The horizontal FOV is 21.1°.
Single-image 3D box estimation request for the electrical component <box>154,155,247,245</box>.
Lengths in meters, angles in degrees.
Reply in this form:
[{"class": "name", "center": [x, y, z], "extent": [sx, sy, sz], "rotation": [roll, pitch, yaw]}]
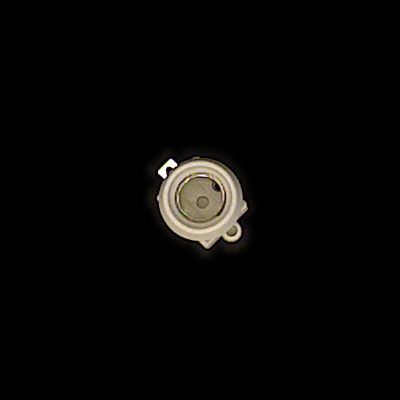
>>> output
[{"class": "electrical component", "center": [0.000, 0.000, 0.639], "extent": [0.066, 0.048, 0.055], "rotation": [43, -5, 4]}]
